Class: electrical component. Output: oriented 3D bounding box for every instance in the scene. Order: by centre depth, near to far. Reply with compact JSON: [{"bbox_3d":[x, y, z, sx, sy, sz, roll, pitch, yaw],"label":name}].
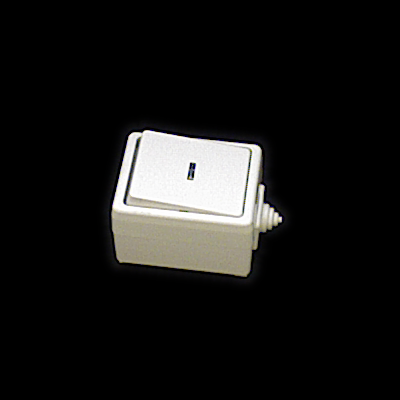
[{"bbox_3d":[0.000,0.000,0.627,0.096,0.061,0.061,6,-38,4],"label":"electrical component"}]
